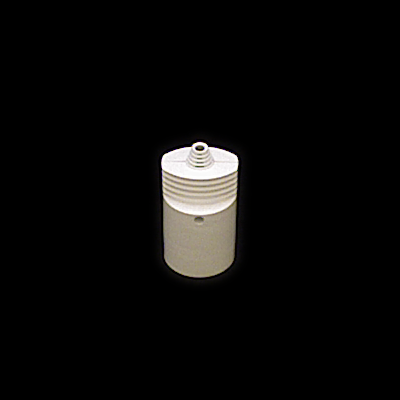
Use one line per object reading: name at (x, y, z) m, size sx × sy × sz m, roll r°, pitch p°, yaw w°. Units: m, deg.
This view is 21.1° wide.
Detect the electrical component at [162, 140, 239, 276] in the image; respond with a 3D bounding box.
electrical component at (0.000, 0.000, 0.623) m, size 0.043 × 0.082 × 0.042 m, roll 0°, pitch 42°, yaw 0°
